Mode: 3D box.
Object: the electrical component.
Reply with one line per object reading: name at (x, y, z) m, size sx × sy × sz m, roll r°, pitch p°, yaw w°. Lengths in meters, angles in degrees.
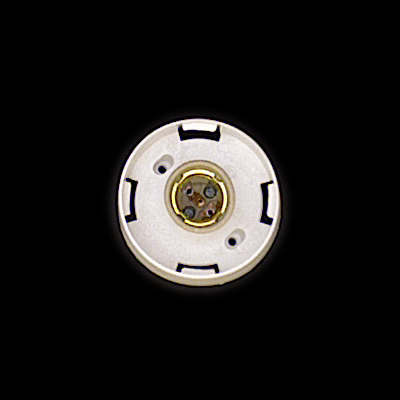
electrical component at (0.000, 0.000, 0.625) m, size 0.099 × 0.099 × 0.064 m, roll 0°, pitch -7°, yaw 0°
